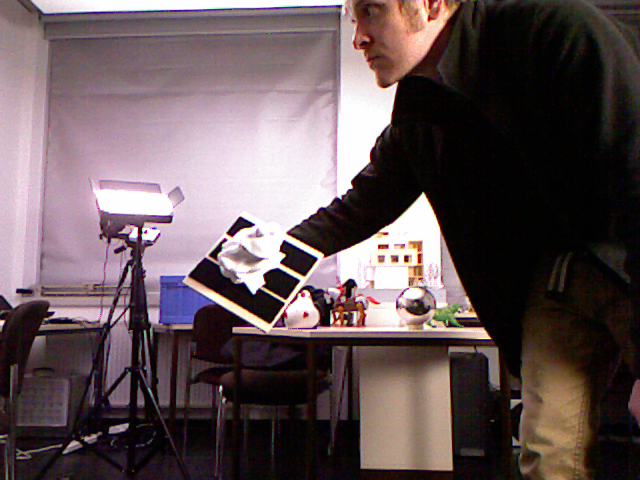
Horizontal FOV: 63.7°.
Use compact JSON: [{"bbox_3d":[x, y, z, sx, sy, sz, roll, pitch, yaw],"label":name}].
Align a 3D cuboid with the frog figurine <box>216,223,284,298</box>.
[{"bbox_3d":[-0.132,0.014,0.968,0.139,0.125,0.156,-30,-29,-19],"label":"frog figurine"}]
